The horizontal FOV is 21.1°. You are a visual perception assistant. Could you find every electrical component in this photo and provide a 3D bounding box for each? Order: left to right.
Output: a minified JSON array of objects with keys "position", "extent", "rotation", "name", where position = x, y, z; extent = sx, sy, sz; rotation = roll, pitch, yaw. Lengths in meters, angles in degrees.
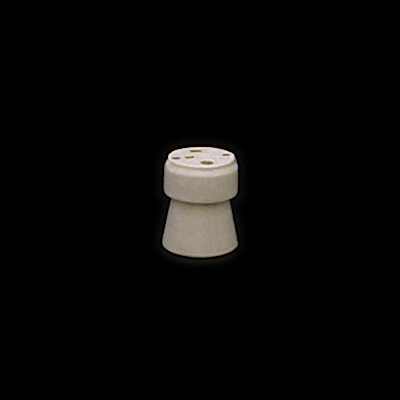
[{"position":[0.000,0.000,0.641],"extent":[0.045,0.056,0.044],"rotation":[1,21,0],"name":"electrical component"}]
